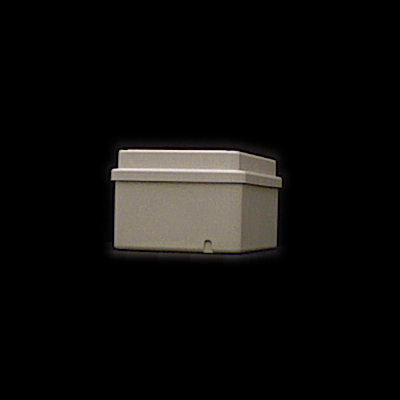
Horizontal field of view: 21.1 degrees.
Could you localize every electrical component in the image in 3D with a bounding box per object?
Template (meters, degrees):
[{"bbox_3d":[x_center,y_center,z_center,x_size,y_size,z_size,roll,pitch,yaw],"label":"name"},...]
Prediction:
[{"bbox_3d":[0.000,0.000,0.650,0.078,0.057,0.113,1,0,16],"label":"electrical component"}]
